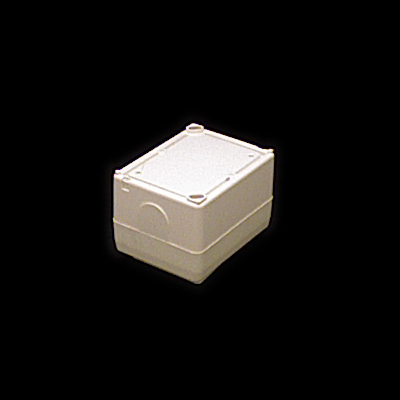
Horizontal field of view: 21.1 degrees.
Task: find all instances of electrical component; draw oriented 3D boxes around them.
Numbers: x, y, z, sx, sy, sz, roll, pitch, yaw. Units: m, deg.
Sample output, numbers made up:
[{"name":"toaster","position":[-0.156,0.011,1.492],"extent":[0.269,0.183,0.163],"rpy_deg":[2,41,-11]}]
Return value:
[{"name":"electrical component","position":[0.000,0.000,0.635],"extent":[0.061,0.061,0.095],"rpy_deg":[21,36,29]}]
